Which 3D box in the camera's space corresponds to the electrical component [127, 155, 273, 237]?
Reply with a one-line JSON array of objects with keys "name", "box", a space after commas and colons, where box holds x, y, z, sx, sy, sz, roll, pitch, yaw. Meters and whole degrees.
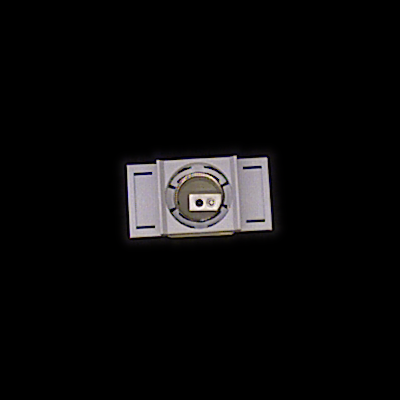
[{"name": "electrical component", "box": [0.000, 0.000, 0.625, 0.081, 0.042, 0.063, -3, -7, 0]}]
